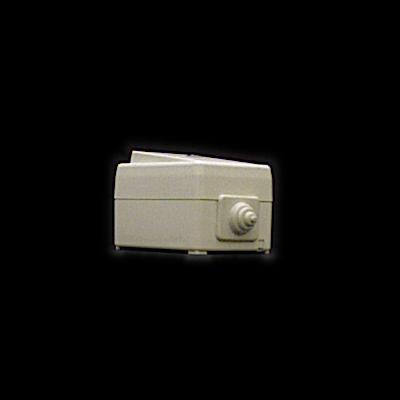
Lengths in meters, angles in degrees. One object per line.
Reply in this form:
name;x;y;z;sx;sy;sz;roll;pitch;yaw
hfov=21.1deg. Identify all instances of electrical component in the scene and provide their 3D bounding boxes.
electrical component;0.000;0.000;0.648;0.062;0.061;0.096;1;0;-41
